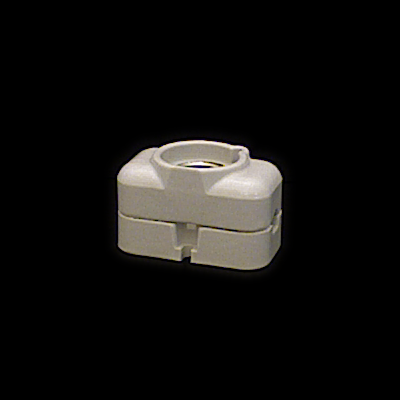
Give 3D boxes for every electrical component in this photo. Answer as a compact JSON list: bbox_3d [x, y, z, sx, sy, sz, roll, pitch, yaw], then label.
[{"bbox_3d":[0.000,0.000,0.647,0.095,0.060,0.053,8,23,15],"label":"electrical component"}]
